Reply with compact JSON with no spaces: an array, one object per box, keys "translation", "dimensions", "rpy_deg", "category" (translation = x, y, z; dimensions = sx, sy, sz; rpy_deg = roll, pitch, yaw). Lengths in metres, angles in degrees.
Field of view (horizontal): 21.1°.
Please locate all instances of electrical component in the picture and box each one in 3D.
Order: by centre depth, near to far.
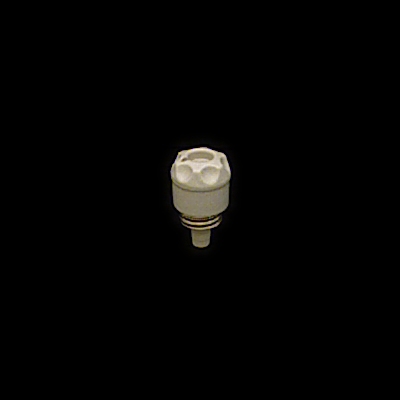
[{"translation":[0.000,0.000,0.641],"dimensions":[0.035,0.062,0.034],"rpy_deg":[1,32,0],"category":"electrical component"}]
